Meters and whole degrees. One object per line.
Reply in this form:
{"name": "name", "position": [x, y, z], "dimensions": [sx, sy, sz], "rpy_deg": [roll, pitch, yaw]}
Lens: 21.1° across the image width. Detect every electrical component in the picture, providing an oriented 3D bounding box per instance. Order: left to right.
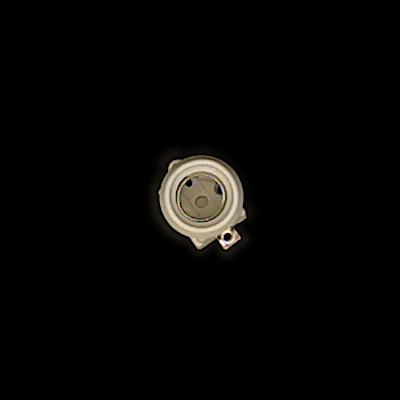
{"name": "electrical component", "position": [0.000, 0.000, 0.639], "dimensions": [0.048, 0.066, 0.055], "rpy_deg": [-37, -5, -1]}
